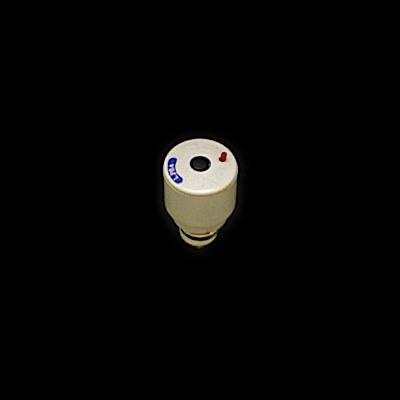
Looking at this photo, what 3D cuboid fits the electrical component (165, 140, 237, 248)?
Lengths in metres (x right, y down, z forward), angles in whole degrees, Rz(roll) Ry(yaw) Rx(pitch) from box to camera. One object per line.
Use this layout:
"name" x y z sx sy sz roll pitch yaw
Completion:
"electrical component" 0.000 0.000 0.620 0.040 0.040 0.079 0 -38 -1
